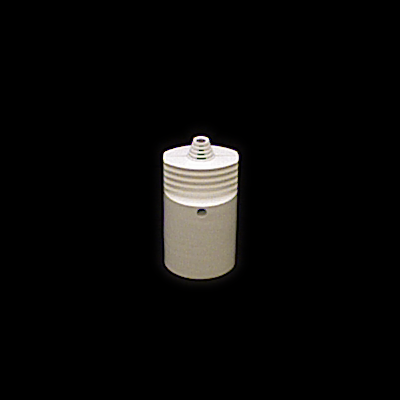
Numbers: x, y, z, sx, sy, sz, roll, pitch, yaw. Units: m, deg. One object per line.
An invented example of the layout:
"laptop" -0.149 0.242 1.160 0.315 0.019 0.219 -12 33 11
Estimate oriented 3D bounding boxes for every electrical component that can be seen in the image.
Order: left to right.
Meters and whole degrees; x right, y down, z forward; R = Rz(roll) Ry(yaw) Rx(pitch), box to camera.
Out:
"electrical component" 0.000 0.000 0.628 0.043 0.082 0.042 1 31 0
